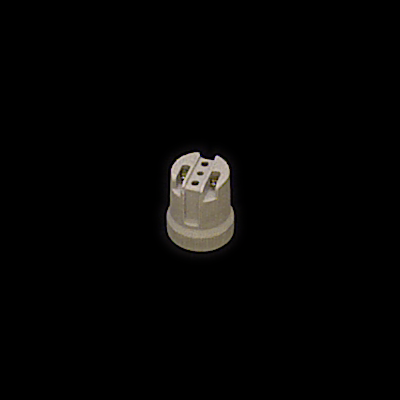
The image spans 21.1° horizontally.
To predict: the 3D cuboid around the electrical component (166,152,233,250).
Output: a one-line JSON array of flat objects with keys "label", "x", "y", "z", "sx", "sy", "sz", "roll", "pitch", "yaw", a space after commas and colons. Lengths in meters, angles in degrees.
[{"label": "electrical component", "x": 0.000, "y": 0.000, "z": 0.635, "sx": 0.040, "sy": 0.046, "sz": 0.040, "roll": 0, "pitch": 42, "yaw": 0}]
